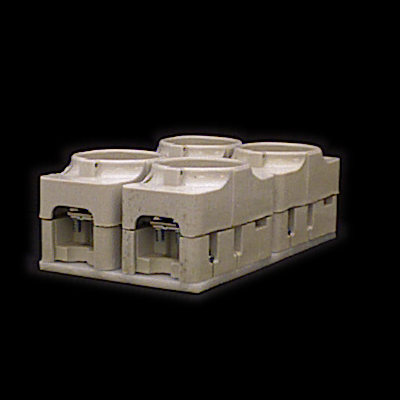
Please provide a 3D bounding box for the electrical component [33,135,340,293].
[{"bbox_3d":[0.000,0.000,0.643,0.105,0.061,0.185,7,12,29],"label":"electrical component"}]
